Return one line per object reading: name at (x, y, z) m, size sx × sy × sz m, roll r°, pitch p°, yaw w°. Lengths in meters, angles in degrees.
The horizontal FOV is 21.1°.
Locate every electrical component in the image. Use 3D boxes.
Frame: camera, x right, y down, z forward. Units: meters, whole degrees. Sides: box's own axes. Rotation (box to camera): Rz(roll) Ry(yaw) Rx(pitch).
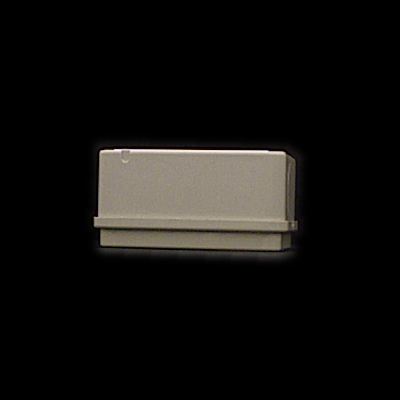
electrical component at (0.000, 0.000, 0.649) m, size 0.113 × 0.057 × 0.078 m, roll 2°, pitch 0°, yaw 10°
